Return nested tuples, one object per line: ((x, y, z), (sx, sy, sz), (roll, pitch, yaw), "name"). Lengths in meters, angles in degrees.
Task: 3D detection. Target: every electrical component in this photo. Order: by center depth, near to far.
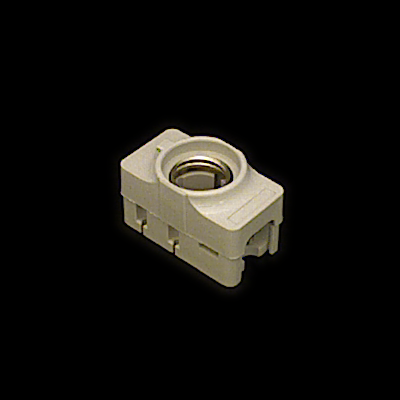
((0.000, 0.000, 0.640), (0.088, 0.056, 0.050), (30, 50, 28), "electrical component")
